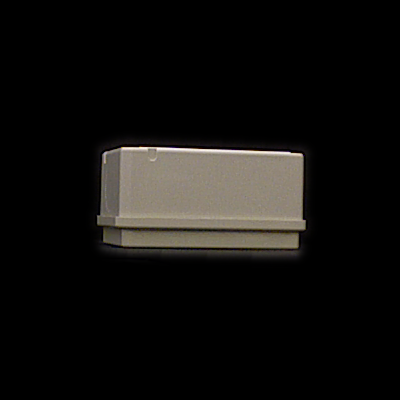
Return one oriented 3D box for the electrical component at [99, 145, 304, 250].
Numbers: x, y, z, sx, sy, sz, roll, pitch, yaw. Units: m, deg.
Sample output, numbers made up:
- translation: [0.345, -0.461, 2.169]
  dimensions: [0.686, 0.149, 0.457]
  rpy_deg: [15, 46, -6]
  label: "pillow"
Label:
- translation: [0.000, 0.000, 0.649]
  dimensions: [0.113, 0.057, 0.078]
  rpy_deg: [2, 0, -15]
  label: "electrical component"
